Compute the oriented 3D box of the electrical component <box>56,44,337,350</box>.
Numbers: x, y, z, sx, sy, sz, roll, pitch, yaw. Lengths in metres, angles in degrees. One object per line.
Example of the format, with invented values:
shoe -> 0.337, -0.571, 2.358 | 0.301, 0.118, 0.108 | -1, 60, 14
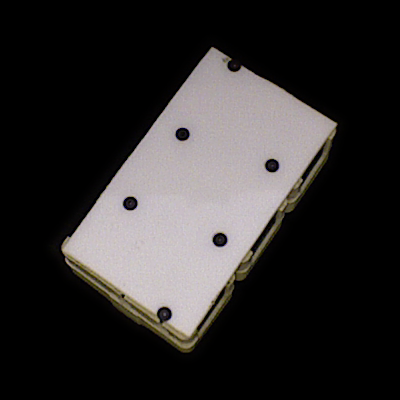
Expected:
electrical component -> 0.000, 0.000, 0.629 | 0.089, 0.150, 0.062 | 34, -13, 10
